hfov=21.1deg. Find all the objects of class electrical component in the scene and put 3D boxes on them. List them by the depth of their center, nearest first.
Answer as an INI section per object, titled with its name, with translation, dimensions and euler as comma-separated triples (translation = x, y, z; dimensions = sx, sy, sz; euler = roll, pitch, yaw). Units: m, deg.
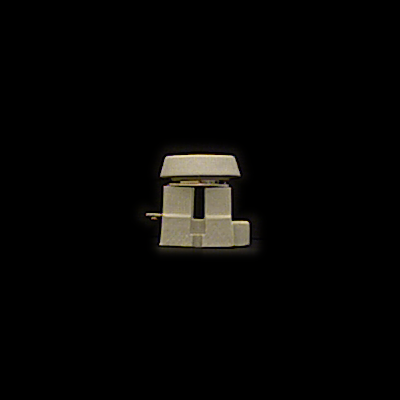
[electrical component]
translation = 0.000, 0.000, 0.656
dimensions = 0.066, 0.055, 0.048
euler = 1, 0, 0
